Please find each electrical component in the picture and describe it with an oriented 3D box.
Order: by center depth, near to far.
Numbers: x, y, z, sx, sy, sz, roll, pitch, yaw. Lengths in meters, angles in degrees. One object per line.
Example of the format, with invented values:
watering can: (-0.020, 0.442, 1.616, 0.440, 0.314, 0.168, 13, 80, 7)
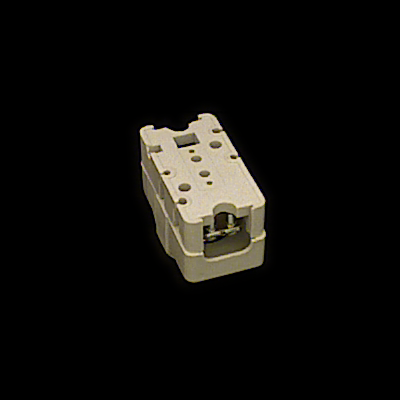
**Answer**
electrical component: (0.000, 0.000, 0.639, 0.050, 0.056, 0.088, -14, 44, -14)
